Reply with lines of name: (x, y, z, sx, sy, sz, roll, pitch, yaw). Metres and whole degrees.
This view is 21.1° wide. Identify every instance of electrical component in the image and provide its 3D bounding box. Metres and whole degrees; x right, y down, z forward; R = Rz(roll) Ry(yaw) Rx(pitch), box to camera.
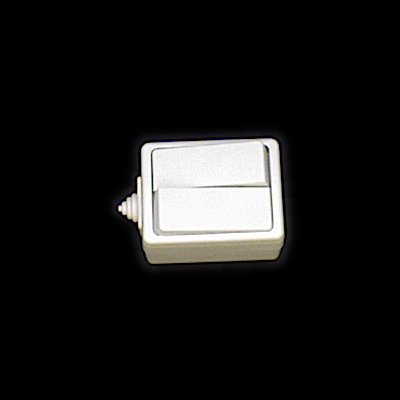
electrical component: (0.000, 0.000, 0.626, 0.096, 0.062, 0.060, -2, -17, -1)
